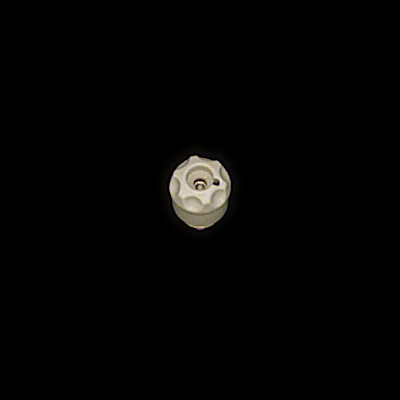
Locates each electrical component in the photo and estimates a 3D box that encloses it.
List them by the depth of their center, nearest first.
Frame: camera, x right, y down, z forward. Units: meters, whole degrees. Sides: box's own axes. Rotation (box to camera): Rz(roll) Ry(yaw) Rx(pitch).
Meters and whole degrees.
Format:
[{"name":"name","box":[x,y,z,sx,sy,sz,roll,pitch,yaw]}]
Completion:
[{"name":"electrical component","box":[0.000,0.000,0.633,0.035,0.035,0.061,0,-26,0]}]
